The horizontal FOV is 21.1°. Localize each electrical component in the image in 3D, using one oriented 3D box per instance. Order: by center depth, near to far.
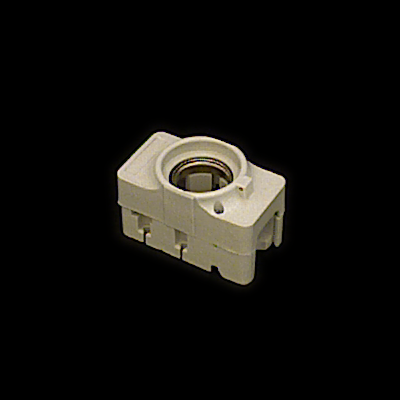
[{"bbox_3d":[0.000,0.000,0.639,0.089,0.056,0.050,21,47,21],"label":"electrical component"}]
